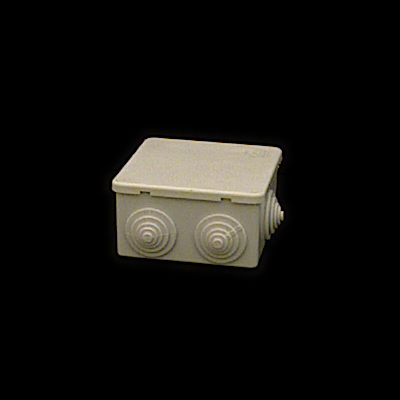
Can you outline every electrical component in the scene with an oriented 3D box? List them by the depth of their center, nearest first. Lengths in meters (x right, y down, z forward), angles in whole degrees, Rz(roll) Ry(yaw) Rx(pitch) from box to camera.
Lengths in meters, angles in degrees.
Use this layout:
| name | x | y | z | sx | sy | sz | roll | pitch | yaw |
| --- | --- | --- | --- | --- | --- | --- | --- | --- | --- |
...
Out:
| name | x | y | z | sx | sy | sz | roll | pitch | yaw |
| --- | --- | --- | --- | --- | --- | --- | --- | --- | --- |
| electrical component | 0.000 | 0.000 | 0.650 | 0.099 | 0.049 | 0.099 | 5 | 22 | 9 |
